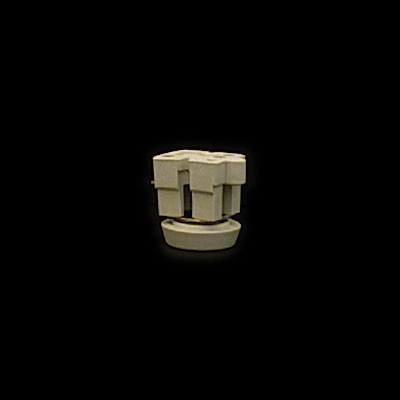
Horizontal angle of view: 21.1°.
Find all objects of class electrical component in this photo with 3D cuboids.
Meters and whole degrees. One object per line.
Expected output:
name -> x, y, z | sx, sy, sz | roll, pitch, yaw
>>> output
electrical component -> 0.000, 0.000, 0.652 | 0.066, 0.056, 0.048 | 7, 14, 30
